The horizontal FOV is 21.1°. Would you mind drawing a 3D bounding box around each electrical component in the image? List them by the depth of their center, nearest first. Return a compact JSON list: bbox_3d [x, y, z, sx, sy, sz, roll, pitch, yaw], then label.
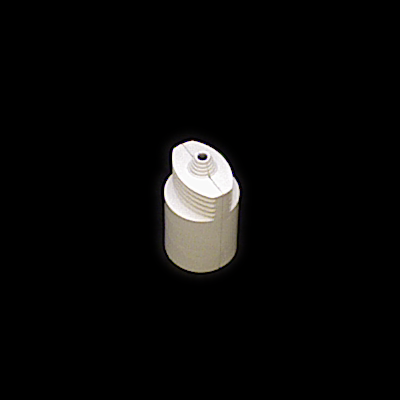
[{"bbox_3d":[0.000,0.000,0.619,0.043,0.043,0.081,0,-38,0],"label":"electrical component"}]
